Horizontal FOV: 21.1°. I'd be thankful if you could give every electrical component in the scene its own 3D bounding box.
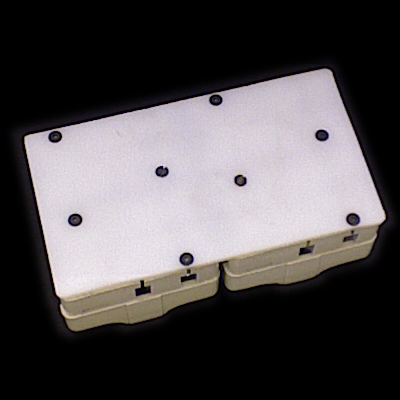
[{"bbox_3d":[0.000,0.000,0.625,0.186,0.105,0.060,-13,-26,-7],"label":"electrical component"}]
